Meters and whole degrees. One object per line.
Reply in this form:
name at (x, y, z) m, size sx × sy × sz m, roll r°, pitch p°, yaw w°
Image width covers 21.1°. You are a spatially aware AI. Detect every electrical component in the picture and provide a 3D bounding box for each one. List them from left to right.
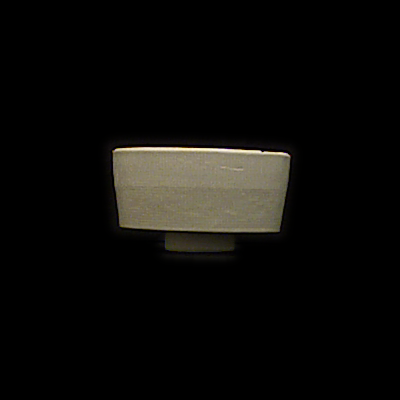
electrical component at (0.000, 0.000, 0.656) m, size 0.108 × 0.060 × 0.108 m, roll 2°, pitch 1°, yaw 1°
